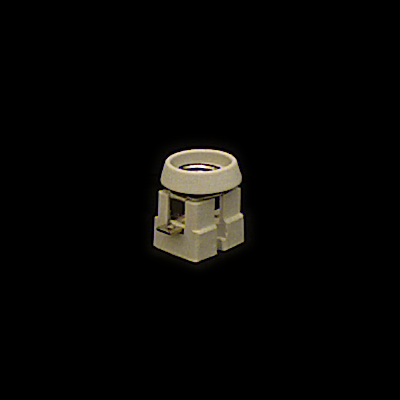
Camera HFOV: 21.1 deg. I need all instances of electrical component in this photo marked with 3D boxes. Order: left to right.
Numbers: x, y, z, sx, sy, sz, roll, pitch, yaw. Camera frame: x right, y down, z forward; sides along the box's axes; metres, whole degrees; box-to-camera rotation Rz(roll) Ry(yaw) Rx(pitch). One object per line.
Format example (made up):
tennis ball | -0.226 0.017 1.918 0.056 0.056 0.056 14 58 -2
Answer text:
electrical component | 0.000 0.000 0.645 0.048 0.056 0.066 16 26 38
